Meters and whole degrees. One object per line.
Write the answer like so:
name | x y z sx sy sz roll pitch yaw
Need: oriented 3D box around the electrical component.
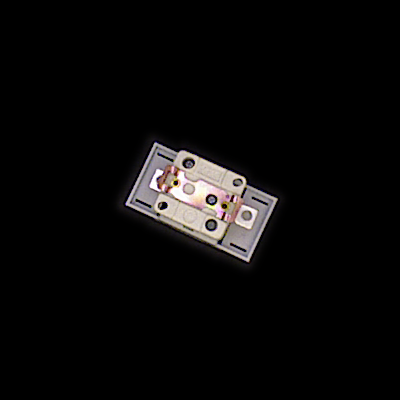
electrical component | 0.000 0.000 0.626 0.081 0.042 0.063 24 -5 3
